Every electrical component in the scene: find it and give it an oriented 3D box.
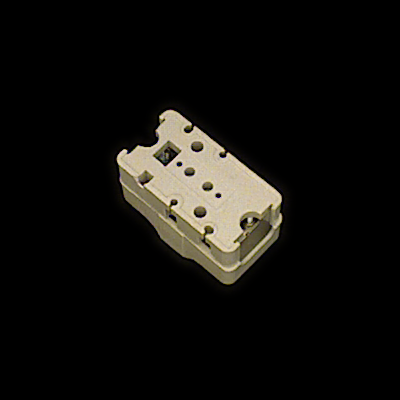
[{"bbox_3d":[0.000,0.000,0.636,0.089,0.050,0.055,39,-20,18],"label":"electrical component"}]
